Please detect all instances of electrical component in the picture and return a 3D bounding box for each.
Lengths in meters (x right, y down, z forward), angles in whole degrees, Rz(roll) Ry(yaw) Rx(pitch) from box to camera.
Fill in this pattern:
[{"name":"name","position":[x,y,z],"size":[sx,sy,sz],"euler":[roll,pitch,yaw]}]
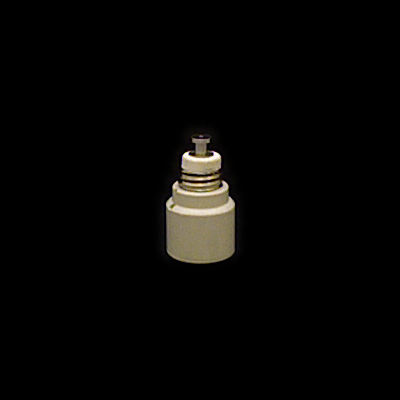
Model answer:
[{"name":"electrical component","position":[0.000,0.000,0.636],"size":[0.040,0.079,0.039],"euler":[0,22,0]}]
